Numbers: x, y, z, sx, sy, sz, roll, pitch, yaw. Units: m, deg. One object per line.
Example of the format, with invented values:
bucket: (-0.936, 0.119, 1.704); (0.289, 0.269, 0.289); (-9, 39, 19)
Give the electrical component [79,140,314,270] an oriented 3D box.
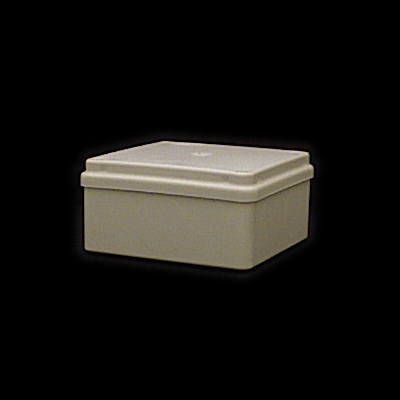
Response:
electrical component: (0.000, 0.000, 0.643); (0.108, 0.056, 0.108); (6, 12, 24)
